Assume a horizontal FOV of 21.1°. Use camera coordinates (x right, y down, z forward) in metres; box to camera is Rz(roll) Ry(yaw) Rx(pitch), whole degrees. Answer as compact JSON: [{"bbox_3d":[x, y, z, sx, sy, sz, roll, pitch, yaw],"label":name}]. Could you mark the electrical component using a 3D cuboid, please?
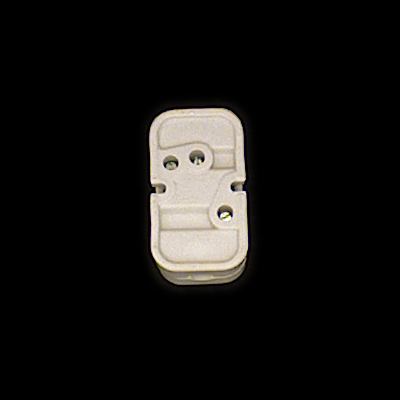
[{"bbox_3d":[0.000,0.000,0.635,0.054,0.095,0.059,-2,-15,0],"label":"electrical component"}]
